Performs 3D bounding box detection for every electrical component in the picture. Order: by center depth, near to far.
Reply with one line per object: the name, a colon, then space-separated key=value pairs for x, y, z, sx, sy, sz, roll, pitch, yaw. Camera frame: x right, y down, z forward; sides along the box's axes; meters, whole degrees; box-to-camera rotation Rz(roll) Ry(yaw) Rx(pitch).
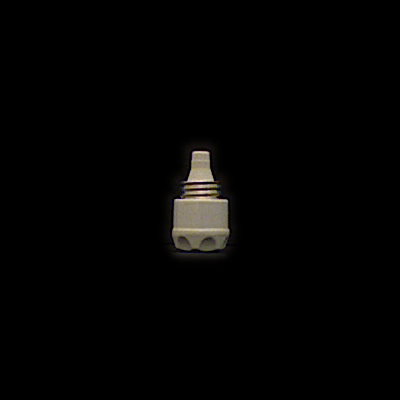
electrical component: x=0.000 y=0.000 z=0.661 sx=0.035 sy=0.061 sz=0.035 roll=0 pitch=2 yaw=0
